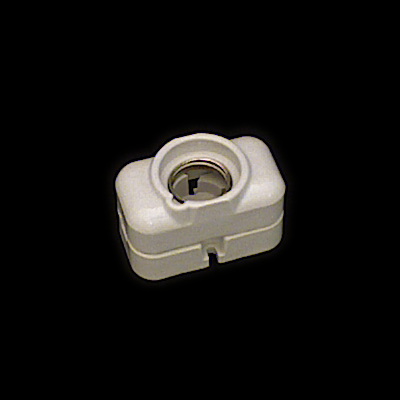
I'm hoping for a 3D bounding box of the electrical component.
[{"bbox_3d":[0.000,0.000,0.634,0.095,0.053,0.059,-14,-36,-11],"label":"electrical component"}]
